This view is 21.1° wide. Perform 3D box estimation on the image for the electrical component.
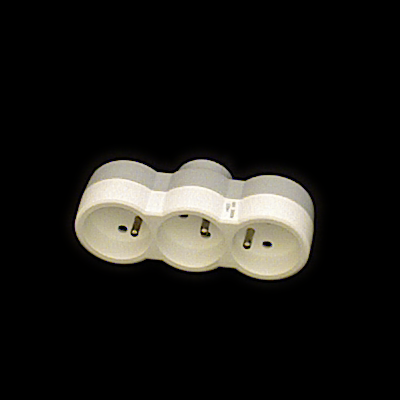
[{"bbox_3d":[0.000,0.000,0.643,0.138,0.053,0.073,6,41,5],"label":"electrical component"}]
